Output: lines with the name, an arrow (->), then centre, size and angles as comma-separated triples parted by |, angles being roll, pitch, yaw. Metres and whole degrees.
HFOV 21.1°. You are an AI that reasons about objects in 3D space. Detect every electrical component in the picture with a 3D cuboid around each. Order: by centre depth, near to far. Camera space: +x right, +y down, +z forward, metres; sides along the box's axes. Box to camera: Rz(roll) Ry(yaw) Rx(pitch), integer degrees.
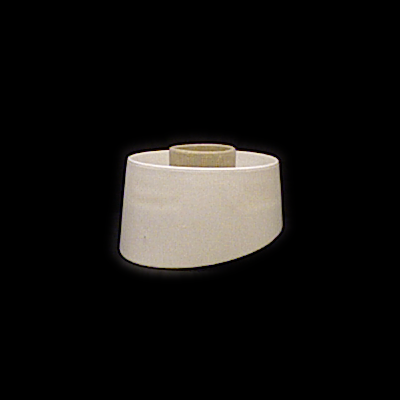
electrical component -> 0.000, 0.000, 0.645 | 0.099, 0.064, 0.098 | 1, 11, 0
